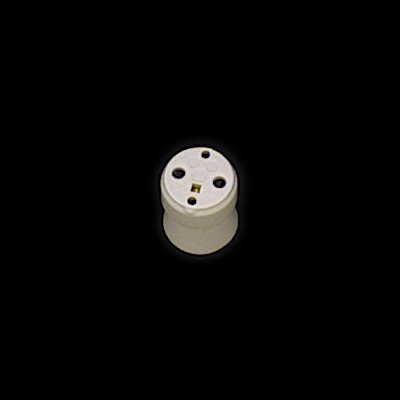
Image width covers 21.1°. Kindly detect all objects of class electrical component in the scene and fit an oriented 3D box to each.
[{"bbox_3d":[0.000,0.000,0.629,0.045,0.045,0.055,0,-27,0],"label":"electrical component"}]
